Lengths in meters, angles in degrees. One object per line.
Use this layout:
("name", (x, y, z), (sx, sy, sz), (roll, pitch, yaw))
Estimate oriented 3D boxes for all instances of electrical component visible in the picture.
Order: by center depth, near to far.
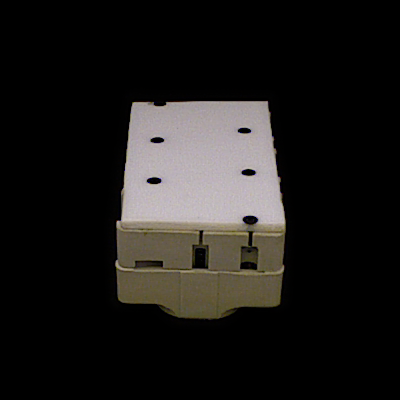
("electrical component", (0.000, 0.000, 0.638), (0.089, 0.063, 0.147), (0, 31, 0))
